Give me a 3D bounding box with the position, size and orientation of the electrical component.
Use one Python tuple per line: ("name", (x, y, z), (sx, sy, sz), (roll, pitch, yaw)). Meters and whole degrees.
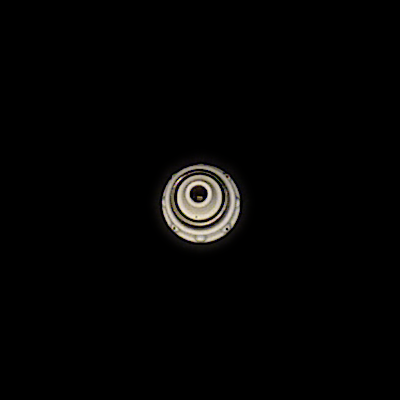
("electrical component", (0.000, 0.000, 0.635), (0.048, 0.048, 0.061), (0, -6, 0))
